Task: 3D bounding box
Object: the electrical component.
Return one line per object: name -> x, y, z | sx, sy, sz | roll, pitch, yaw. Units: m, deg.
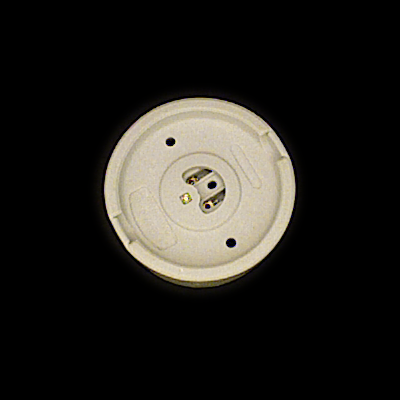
electrical component -> 0.000, 0.000, 0.633 | 0.108, 0.108, 0.060 | 0, -16, 0
